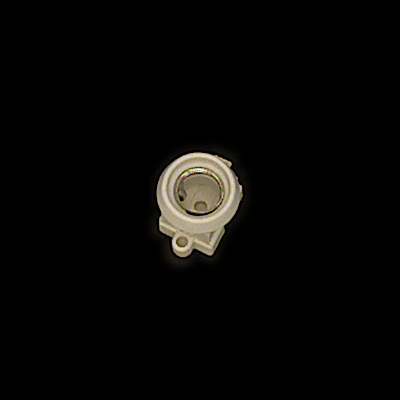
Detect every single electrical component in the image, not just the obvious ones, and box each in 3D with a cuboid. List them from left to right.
[{"bbox_3d":[0.000,0.000,0.637,0.048,0.067,0.055,25,-15,5],"label":"electrical component"}]
